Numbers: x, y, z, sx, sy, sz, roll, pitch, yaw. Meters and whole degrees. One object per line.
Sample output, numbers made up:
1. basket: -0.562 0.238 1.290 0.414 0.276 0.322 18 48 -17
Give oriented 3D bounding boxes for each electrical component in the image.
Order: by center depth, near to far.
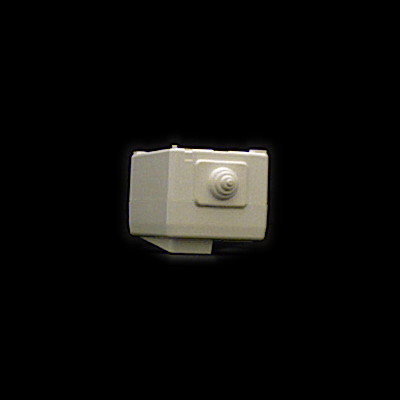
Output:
1. electrical component: 0.000 0.000 0.643 0.061 0.061 0.096 2 -1 -21
